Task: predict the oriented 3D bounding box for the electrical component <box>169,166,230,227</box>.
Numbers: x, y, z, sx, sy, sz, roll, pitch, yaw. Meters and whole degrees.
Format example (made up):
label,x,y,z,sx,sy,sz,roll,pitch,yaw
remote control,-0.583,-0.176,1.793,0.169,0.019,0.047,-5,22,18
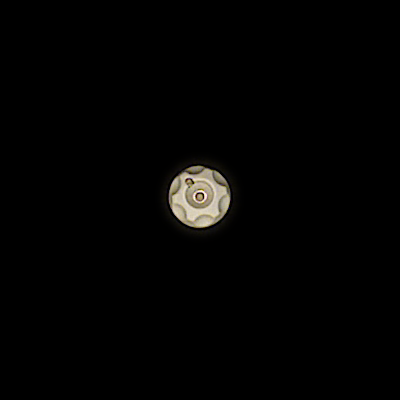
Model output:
label,x,y,z,sx,sy,sz,roll,pitch,yaw
electrical component,0.000,0.000,0.635,0.035,0.035,0.061,0,-6,1
